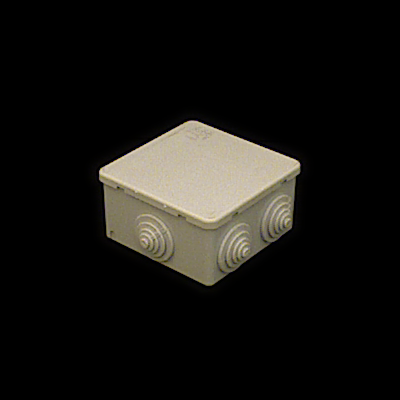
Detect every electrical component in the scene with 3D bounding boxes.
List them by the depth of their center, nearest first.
[{"bbox_3d":[0.000,0.000,0.646,0.098,0.049,0.100,24,39,32],"label":"electrical component"}]
